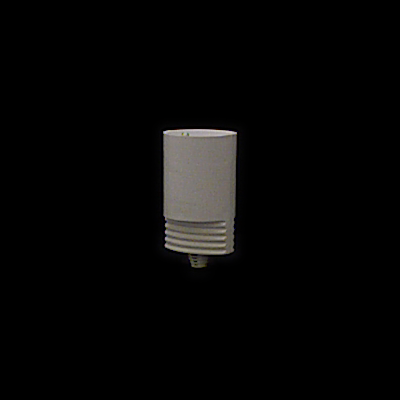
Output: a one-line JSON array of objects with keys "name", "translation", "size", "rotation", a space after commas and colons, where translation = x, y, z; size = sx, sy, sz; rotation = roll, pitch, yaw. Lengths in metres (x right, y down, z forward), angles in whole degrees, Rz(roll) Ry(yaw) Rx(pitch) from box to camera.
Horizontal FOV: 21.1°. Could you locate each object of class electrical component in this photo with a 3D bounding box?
[{"name": "electrical component", "translation": [0.000, 0.000, 0.641], "size": [0.043, 0.081, 0.043], "rotation": [1, 10, 0]}]
